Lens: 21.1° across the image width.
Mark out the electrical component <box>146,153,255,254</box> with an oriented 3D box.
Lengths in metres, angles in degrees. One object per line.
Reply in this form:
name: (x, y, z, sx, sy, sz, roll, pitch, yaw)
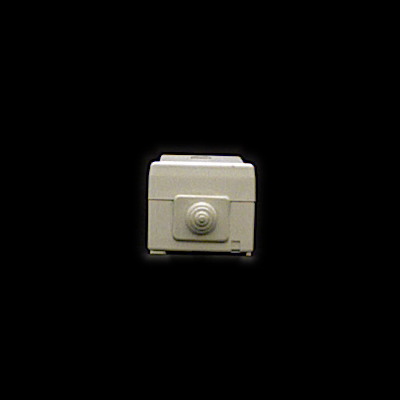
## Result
electrical component: (0.000, 0.000, 0.647, 0.062, 0.061, 0.096, 1, 0, -1)
